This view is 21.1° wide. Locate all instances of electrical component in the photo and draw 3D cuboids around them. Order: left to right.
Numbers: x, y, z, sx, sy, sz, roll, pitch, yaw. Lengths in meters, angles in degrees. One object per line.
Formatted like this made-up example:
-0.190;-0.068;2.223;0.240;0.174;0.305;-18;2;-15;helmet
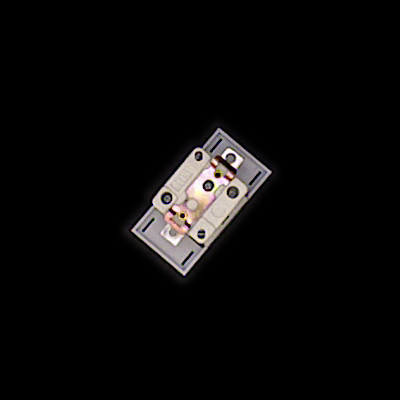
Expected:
0.000;0.000;0.626;0.042;0.081;0.063;39;-5;4;electrical component
